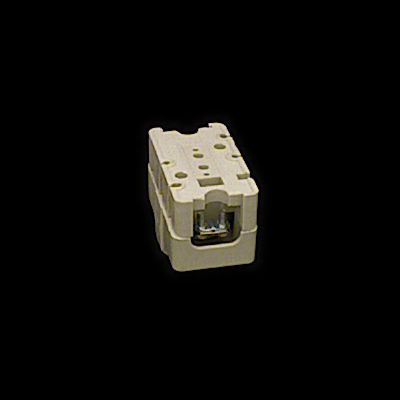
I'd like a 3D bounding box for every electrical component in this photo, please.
[{"bbox_3d":[0.000,0.000,0.643,0.050,0.056,0.088,-6,33,-11],"label":"electrical component"}]
